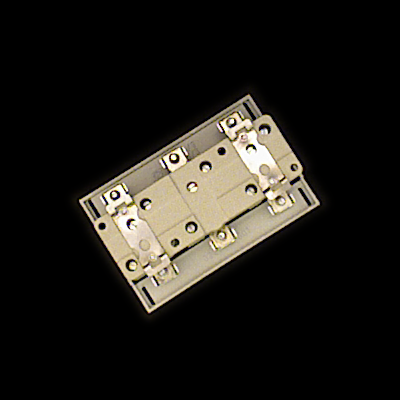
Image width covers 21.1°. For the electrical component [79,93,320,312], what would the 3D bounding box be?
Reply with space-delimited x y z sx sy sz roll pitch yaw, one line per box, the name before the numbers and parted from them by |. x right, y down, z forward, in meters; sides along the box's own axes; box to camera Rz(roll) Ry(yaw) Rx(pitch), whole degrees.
electrical component | 0.000 0.000 0.634 0.121 0.079 0.063 -32 -5 -3
